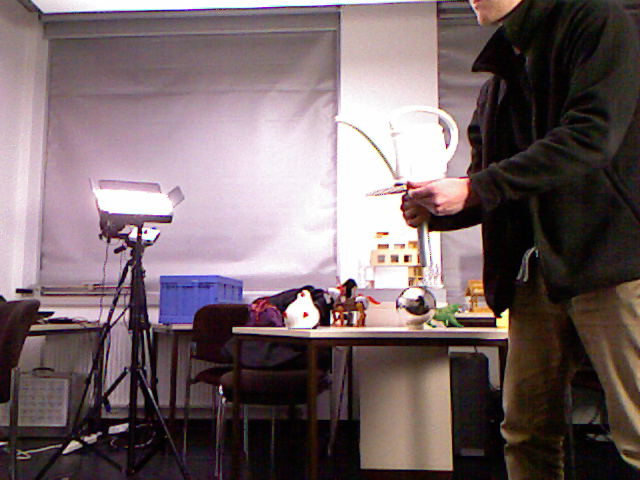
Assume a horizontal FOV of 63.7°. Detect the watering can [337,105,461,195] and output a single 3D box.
[{"bbox_3d":[0.207,-0.223,1.297,0.349,0.223,0.104,-8,7,-20],"label":"watering can"}]
